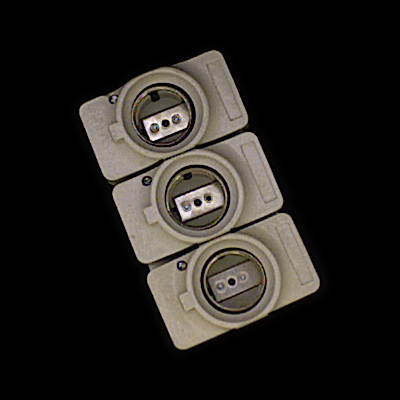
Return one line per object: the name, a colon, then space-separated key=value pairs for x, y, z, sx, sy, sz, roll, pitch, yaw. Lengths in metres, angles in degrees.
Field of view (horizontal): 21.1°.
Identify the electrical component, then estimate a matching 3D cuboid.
electrical component: x=0.000 y=0.000 z=0.632 sx=0.089 sy=0.150 sz=0.061 roll=-23 pitch=-6 yaw=-2
